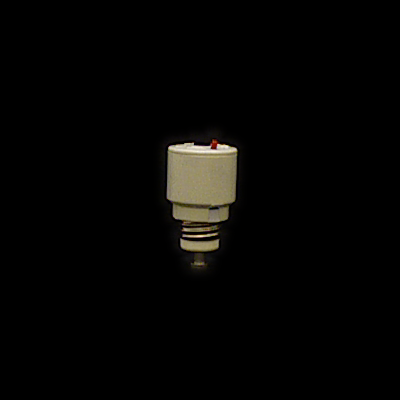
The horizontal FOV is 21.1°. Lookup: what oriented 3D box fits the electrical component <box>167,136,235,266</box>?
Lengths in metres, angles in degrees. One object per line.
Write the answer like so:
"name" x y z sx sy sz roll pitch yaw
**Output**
"electrical component" 0.000 0.000 0.640 0.040 0.079 0.040 2 12 0
